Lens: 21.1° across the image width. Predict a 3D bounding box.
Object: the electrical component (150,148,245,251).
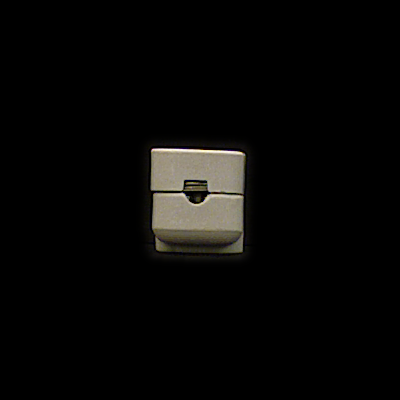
[{"bbox_3d":[0.000,0.000,0.655,0.054,0.059,0.095,1,1,2],"label":"electrical component"}]
